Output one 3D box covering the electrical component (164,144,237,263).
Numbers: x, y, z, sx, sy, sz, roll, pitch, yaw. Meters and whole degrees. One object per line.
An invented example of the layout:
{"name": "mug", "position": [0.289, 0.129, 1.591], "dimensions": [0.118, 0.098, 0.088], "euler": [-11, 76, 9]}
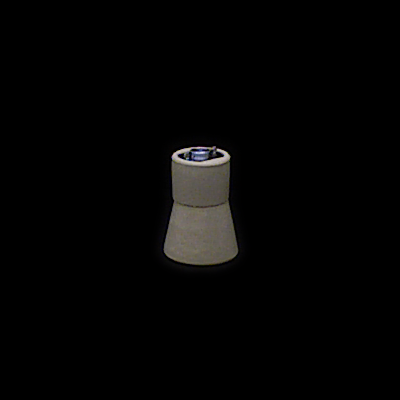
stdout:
{"name": "electrical component", "position": [0.000, 0.000, 0.640], "dimensions": [0.044, 0.066, 0.044], "euler": [0, 21, 0]}
